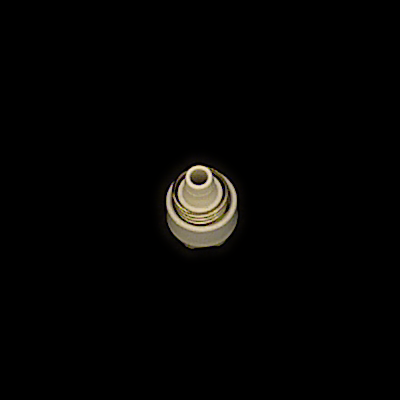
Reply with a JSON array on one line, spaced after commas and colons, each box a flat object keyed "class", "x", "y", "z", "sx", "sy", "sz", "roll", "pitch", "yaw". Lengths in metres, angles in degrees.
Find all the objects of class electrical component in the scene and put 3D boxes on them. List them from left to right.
[{"class": "electrical component", "x": 0.000, "y": 0.000, "z": 0.634, "sx": 0.043, "sy": 0.043, "sz": 0.062, "roll": 0, "pitch": -27, "yaw": 2}]
